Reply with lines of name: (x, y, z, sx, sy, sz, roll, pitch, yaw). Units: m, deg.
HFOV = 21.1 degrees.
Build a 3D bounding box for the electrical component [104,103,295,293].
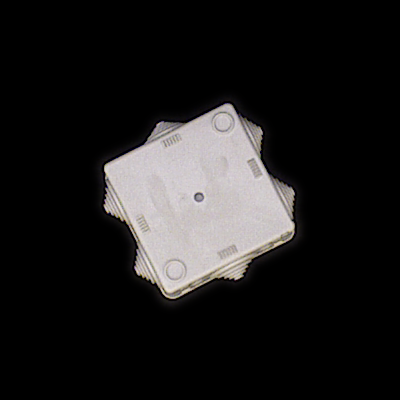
electrical component: (0.000, 0.000, 0.632, 0.100, 0.100, 0.048, -27, -6, -3)
